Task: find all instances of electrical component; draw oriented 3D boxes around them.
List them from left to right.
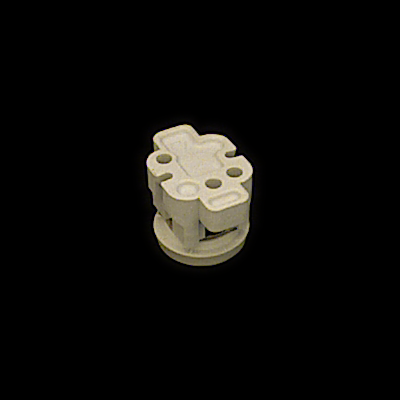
[{"bbox_3d":[0.000,0.000,0.639,0.058,0.057,0.077,-21,45,-20],"label":"electrical component"}]
